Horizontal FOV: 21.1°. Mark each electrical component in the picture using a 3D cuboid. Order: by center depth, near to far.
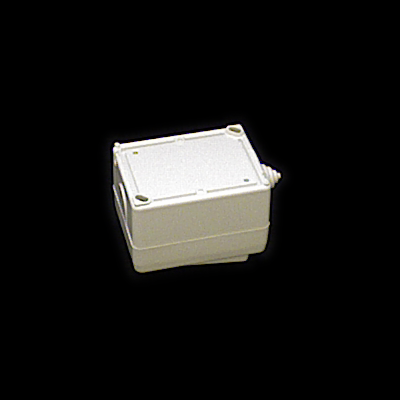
[{"bbox_3d":[0.000,0.000,0.634,0.096,0.061,0.061,-10,42,-11],"label":"electrical component"}]
